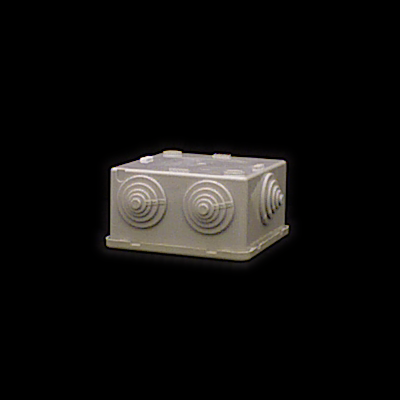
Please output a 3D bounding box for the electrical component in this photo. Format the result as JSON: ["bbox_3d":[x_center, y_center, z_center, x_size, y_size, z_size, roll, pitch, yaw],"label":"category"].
[{"bbox_3d":[0.000,0.000,0.645,0.099,0.049,0.099,5,11,20],"label":"electrical component"}]
